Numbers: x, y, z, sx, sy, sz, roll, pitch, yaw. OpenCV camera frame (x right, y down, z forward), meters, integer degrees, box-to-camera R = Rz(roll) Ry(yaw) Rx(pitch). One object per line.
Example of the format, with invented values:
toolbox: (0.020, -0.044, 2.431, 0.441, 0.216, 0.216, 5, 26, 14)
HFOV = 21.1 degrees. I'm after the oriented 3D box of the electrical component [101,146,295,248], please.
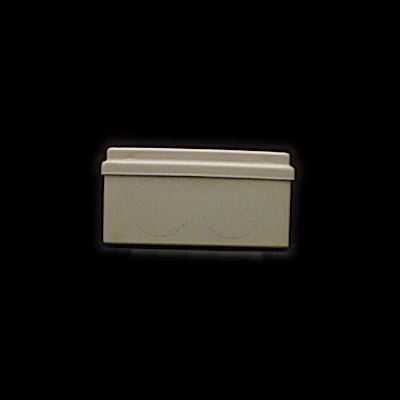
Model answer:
electrical component: (0.000, 0.000, 0.651, 0.109, 0.056, 0.108, 2, 0, 1)
